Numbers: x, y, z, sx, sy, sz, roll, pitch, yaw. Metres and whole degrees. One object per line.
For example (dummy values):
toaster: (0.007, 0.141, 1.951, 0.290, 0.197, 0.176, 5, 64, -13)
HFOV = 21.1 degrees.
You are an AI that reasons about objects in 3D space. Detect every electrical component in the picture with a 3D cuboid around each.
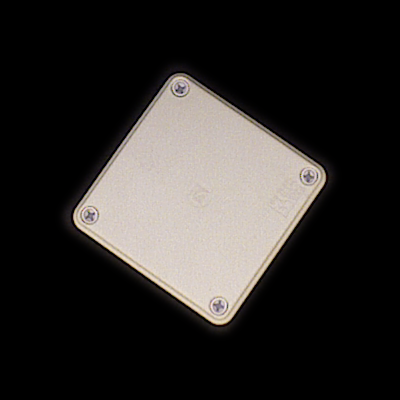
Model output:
electrical component: (0.000, 0.000, 0.631, 0.109, 0.109, 0.056, 35, -5, 4)
